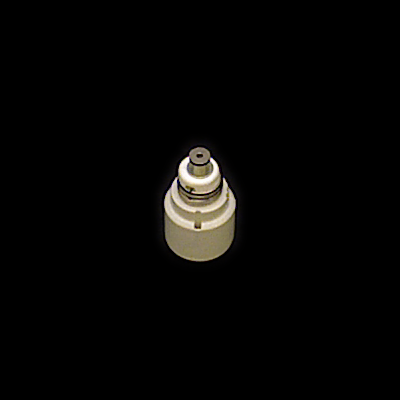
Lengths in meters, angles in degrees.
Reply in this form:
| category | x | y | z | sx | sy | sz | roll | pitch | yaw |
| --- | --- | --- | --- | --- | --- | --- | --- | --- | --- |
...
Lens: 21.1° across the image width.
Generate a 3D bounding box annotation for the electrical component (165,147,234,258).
| category | x | y | z | sx | sy | sz | roll | pitch | yaw |
| --- | --- | --- | --- | --- | --- | --- | --- | --- | --- |
| electrical component | 0.000 | 0.000 | 0.620 | 0.040 | 0.040 | 0.078 | 0 | -39 | 0 |
